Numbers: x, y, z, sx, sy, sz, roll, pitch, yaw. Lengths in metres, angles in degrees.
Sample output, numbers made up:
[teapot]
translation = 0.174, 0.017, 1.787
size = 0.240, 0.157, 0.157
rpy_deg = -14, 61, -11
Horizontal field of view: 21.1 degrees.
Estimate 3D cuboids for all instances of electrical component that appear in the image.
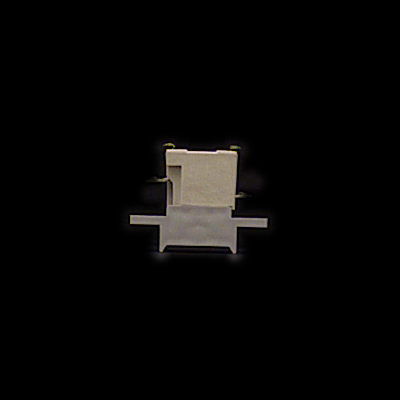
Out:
[electrical component]
translation = 0.000, 0.000, 0.650
size = 0.081, 0.064, 0.042
rpy_deg = 1, 1, 1
